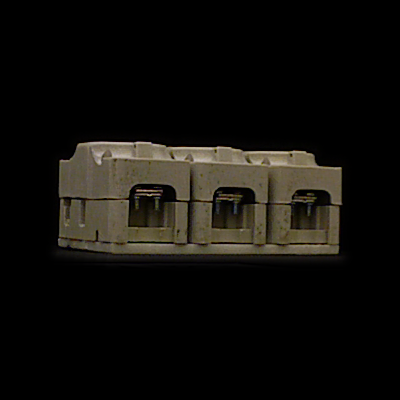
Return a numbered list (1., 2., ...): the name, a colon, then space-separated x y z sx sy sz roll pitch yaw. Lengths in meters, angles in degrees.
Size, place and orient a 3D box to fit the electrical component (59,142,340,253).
1. electrical component: 0.000 0.000 0.656 0.150 0.062 0.089 1 0 -28
